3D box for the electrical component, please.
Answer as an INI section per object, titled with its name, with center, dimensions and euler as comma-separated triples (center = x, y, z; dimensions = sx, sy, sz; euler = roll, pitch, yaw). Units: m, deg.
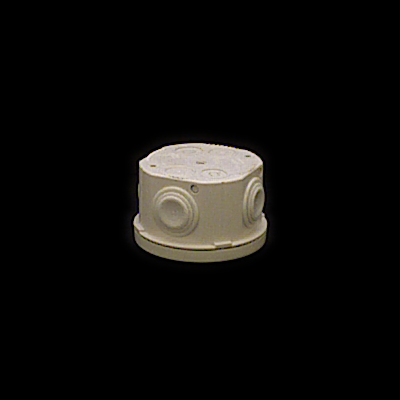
[electrical component]
center = 0.000, 0.000, 0.640
dimensions = 0.080, 0.051, 0.079
euler = 1, 21, 0
